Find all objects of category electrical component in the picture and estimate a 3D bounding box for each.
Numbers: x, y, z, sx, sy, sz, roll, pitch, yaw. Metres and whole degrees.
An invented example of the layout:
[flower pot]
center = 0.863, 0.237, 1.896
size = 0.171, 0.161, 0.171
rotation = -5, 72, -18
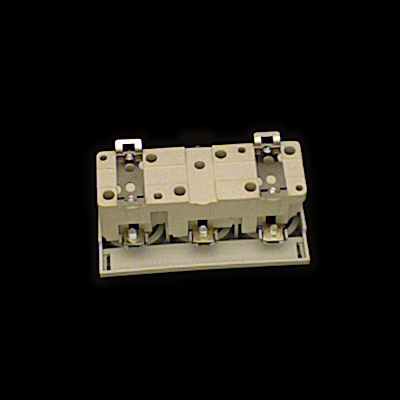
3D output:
[electrical component]
center = 0.000, 0.000, 0.633
size = 0.121, 0.078, 0.063
rotation = -4, -36, -3
